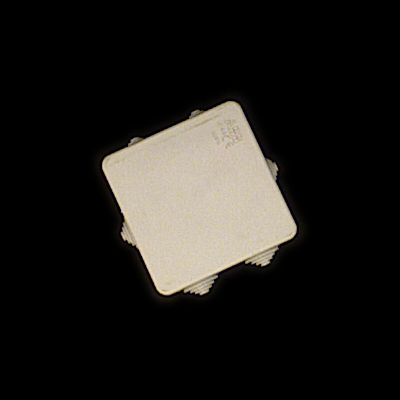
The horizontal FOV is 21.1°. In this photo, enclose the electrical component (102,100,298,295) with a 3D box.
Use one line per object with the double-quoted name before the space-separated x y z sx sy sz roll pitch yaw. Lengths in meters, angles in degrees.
"electrical component" 0.000 0.000 0.642 0.100 0.100 0.048 -24 -6 -3
